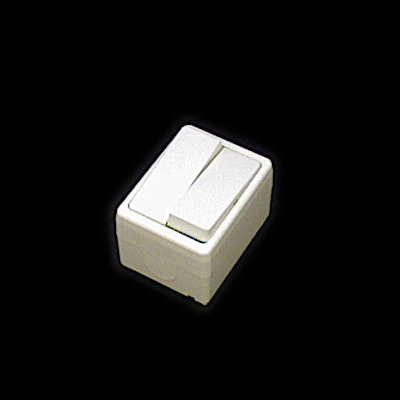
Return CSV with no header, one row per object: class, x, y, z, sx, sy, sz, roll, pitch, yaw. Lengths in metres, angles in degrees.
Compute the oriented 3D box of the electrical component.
electrical component,0.000,0.000,0.629,0.061,0.096,0.061,25,-34,18
